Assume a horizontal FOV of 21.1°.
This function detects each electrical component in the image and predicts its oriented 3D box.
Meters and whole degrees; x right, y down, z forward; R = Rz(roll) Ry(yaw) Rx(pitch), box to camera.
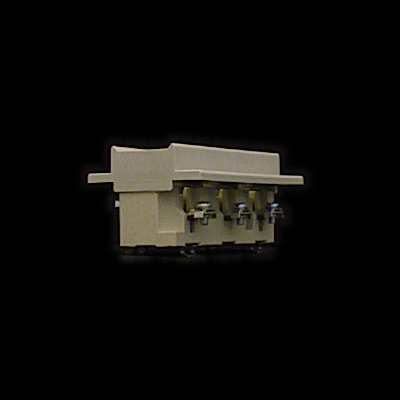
[{"bbox_3d":[0.000,0.000,0.662,0.078,0.063,0.122,0,0,33],"label":"electrical component"}]
